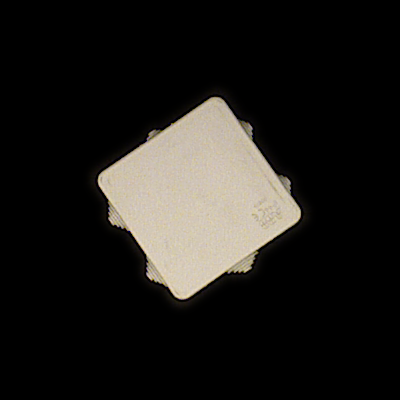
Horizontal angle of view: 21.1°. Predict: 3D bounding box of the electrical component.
[{"bbox_3d":[0.000,0.000,0.642,0.100,0.100,0.048,-34,-5,-4],"label":"electrical component"}]
